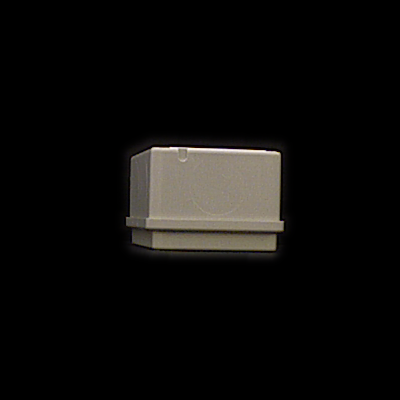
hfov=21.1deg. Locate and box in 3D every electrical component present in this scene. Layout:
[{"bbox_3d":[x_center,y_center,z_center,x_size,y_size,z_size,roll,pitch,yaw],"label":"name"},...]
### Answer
[{"bbox_3d":[0.000,0.000,0.649,0.078,0.057,0.113,1,0,-10],"label":"electrical component"}]
